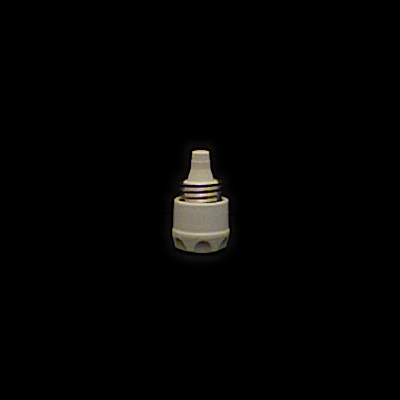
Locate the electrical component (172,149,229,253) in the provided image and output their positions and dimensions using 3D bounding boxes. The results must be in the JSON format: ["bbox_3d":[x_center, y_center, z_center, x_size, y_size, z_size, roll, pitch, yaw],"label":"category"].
[{"bbox_3d":[0.000,0.000,0.655,0.035,0.062,0.035,0,11,0],"label":"electrical component"}]
